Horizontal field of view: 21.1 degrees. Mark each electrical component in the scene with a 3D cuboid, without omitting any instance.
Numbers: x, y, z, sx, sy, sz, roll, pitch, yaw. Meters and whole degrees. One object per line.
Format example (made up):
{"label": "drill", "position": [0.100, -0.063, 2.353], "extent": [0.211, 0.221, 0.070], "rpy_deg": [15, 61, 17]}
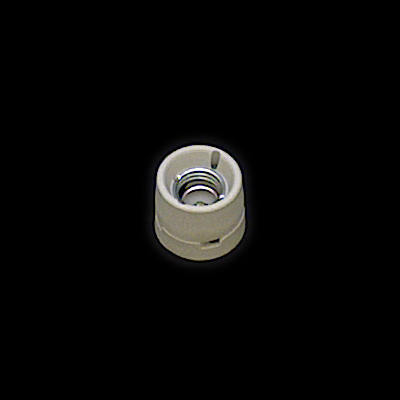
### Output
{"label": "electrical component", "position": [0.000, 0.000, 0.633], "extent": [0.055, 0.055, 0.047], "rpy_deg": [0, -37, 1]}
